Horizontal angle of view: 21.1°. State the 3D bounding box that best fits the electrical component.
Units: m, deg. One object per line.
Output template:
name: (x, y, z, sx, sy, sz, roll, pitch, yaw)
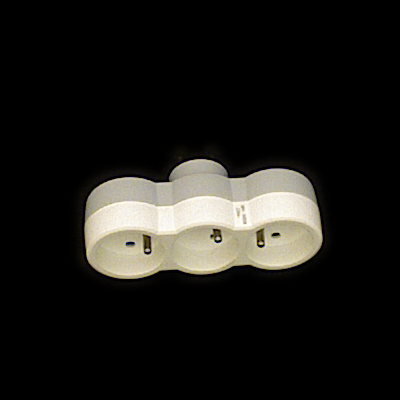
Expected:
electrical component: (0.000, 0.000, 0.641, 0.138, 0.073, 0.052, -3, -39, -3)
